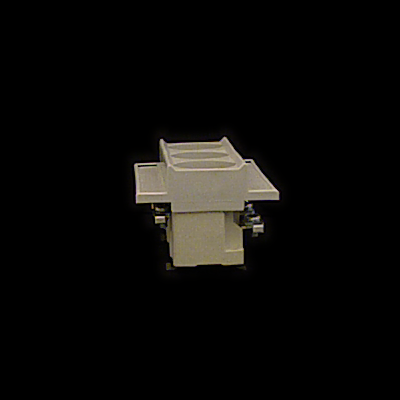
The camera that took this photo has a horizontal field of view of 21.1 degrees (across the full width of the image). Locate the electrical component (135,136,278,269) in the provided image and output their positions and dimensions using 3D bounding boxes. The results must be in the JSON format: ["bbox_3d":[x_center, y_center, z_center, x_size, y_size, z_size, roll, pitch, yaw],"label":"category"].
[{"bbox_3d":[0.000,0.000,0.655,0.079,0.063,0.120,-1,11,-4],"label":"electrical component"}]
